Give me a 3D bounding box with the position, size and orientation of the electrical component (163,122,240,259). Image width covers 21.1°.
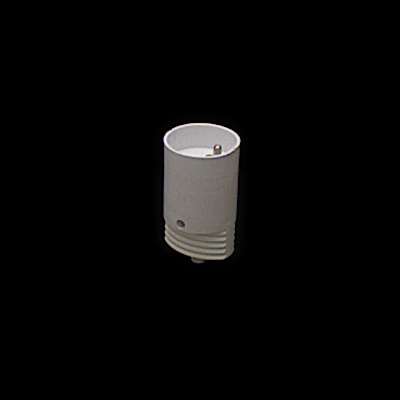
[{"bbox_3d":[0.000,0.000,0.629,0.043,0.082,0.042,1,32,-1],"label":"electrical component"}]
